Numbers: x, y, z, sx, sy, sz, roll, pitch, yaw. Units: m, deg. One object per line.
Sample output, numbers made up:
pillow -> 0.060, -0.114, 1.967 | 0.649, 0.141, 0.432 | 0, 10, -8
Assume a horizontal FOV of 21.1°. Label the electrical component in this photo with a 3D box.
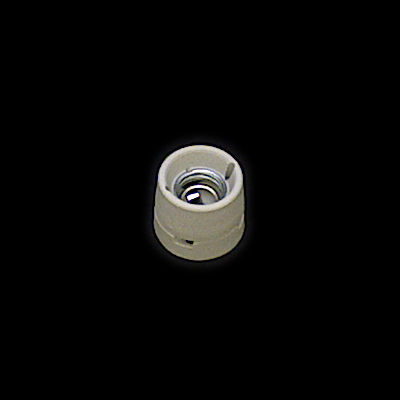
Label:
electrical component -> 0.000, 0.000, 0.634 | 0.055, 0.055, 0.047 | 0, -38, -2
